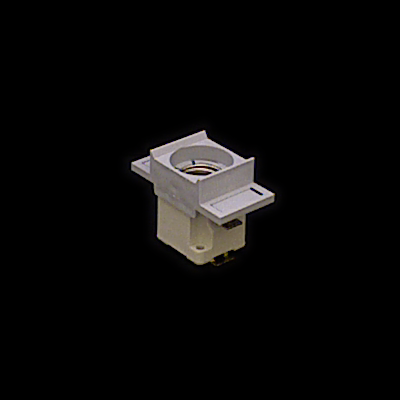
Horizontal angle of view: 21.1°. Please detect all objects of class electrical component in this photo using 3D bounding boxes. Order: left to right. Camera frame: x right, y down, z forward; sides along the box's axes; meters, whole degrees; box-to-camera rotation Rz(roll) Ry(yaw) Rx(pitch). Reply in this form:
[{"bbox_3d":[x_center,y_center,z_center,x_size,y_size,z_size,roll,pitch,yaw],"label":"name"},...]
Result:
[{"bbox_3d":[0.000,0.000,0.634,0.042,0.064,0.080,-24,40,-33],"label":"electrical component"}]
